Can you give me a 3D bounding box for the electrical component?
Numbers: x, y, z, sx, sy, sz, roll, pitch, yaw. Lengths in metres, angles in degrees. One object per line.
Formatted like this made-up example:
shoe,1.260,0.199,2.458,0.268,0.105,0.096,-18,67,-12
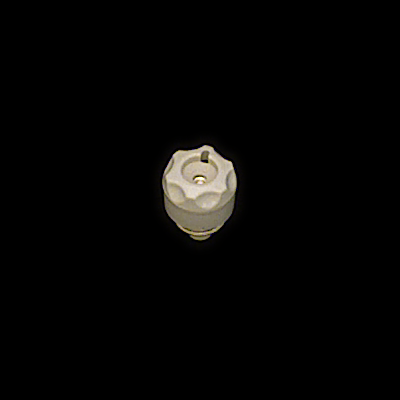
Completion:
electrical component,0.000,0.000,0.635,0.043,0.043,0.062,0,-36,0
